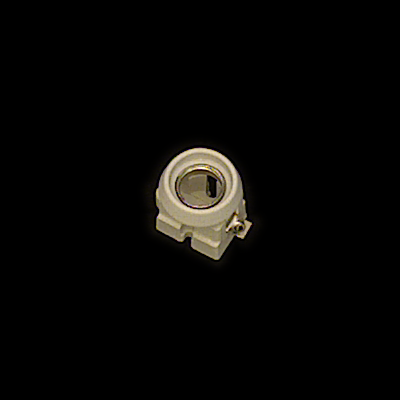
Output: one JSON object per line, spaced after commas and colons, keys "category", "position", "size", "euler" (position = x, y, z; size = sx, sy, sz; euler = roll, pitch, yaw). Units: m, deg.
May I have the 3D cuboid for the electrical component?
{"category": "electrical component", "position": [0.000, 0.000, 0.637], "size": [0.066, 0.048, 0.055], "euler": [26, -22, 12]}
